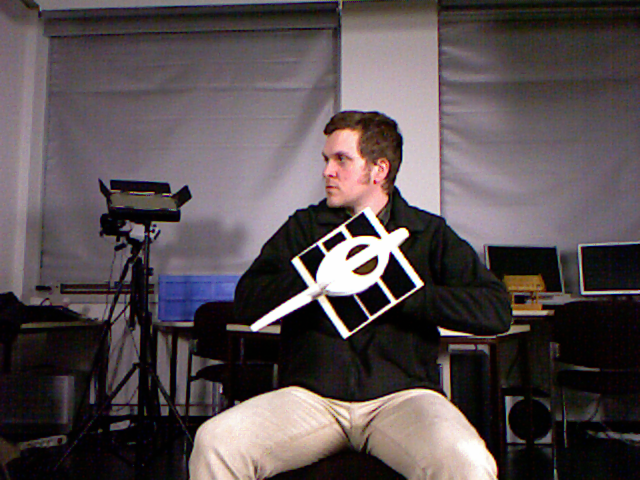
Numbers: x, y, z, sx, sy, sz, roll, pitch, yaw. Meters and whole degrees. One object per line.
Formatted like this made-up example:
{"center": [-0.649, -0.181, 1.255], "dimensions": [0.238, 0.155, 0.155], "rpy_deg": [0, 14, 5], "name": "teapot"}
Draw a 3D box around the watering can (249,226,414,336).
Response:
{"center": [0.031, 0.078, 1.006], "dimensions": [0.349, 0.105, 0.223], "rpy_deg": [-32, -11, 2], "name": "watering can"}
